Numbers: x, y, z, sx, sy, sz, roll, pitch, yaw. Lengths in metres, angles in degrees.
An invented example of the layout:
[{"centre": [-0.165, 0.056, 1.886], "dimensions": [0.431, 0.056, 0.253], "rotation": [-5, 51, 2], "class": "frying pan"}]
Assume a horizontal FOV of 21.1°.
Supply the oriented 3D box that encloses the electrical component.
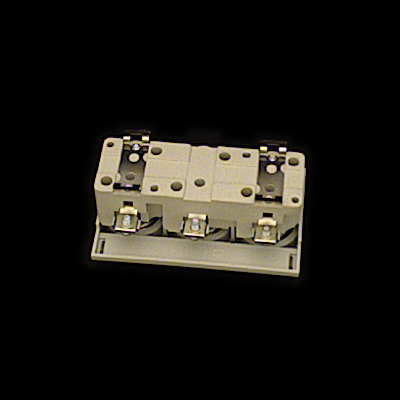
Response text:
[{"centre": [0.000, 0.000, 0.637], "dimensions": [0.121, 0.078, 0.063], "rotation": [5, -38, 3], "class": "electrical component"}]
